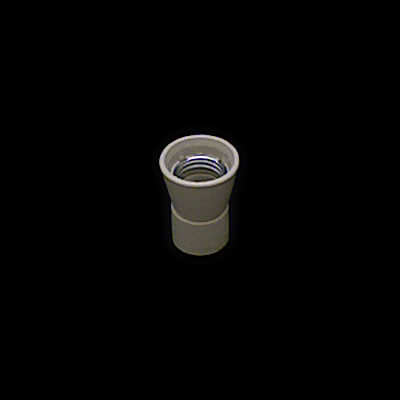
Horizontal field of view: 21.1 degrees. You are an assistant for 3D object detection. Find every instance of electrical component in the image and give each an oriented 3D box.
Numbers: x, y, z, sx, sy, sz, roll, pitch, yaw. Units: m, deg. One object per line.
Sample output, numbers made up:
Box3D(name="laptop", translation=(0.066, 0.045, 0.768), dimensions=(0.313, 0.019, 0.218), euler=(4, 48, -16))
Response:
Box3D(name="electrical component", translation=(0.000, 0.000, 0.628), dimensions=(0.044, 0.066, 0.044), euler=(0, 43, 0))
